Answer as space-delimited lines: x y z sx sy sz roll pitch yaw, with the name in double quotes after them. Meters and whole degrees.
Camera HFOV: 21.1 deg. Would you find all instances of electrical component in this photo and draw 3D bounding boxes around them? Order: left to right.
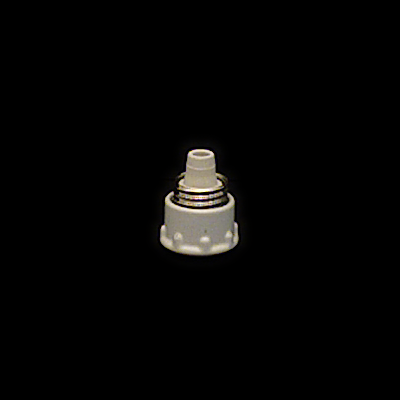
0.000 0.000 0.644 0.048 0.063 0.047 1 23 0 "electrical component"
